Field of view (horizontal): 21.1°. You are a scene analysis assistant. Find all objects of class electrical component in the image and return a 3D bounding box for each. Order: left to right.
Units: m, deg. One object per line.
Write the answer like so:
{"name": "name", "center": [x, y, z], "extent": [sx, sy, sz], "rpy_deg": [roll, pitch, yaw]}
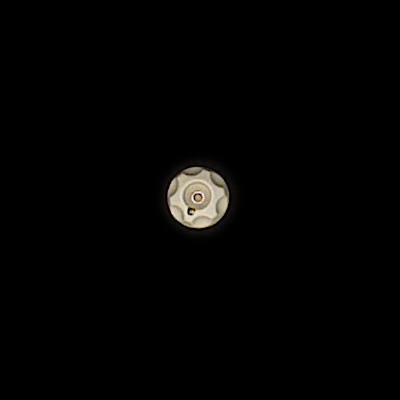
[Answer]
{"name": "electrical component", "center": [0.000, 0.000, 0.635], "extent": [0.035, 0.035, 0.061], "rpy_deg": [0, -5, 1]}
